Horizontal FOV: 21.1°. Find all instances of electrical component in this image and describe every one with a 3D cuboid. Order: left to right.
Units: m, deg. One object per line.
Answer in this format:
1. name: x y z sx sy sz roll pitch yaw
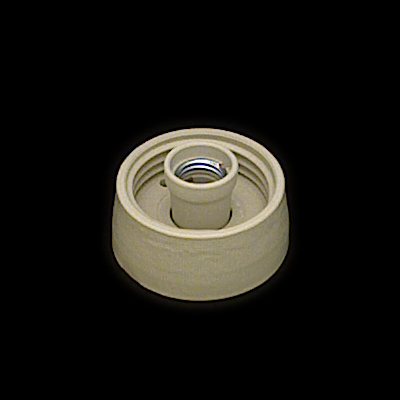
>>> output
1. electrical component: 0.000 0.000 0.636 0.108 0.061 0.107 1 43 0
